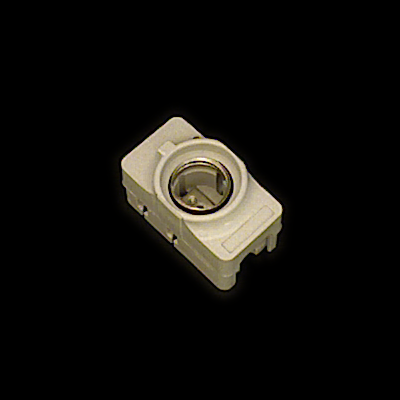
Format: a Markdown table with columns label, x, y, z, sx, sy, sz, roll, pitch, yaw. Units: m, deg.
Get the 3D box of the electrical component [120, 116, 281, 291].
| label | x | y | z | sx | sy | sz | roll | pitch | yaw |
| --- | --- | --- | --- | --- | --- | --- | --- | --- | --- |
| electrical component | 0.000 | 0.000 | 0.636 | 0.089 | 0.050 | 0.055 | 42 | -19 | 18 |
